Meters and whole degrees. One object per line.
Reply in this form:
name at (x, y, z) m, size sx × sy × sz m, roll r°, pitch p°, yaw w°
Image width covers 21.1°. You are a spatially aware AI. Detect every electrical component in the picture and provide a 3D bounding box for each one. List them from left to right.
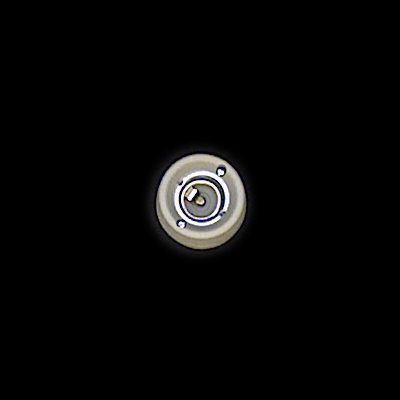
electrical component at (0.000, 0.000, 0.634) m, size 0.055 × 0.055 × 0.047 m, roll 0°, pitch -7°, yaw 0°
